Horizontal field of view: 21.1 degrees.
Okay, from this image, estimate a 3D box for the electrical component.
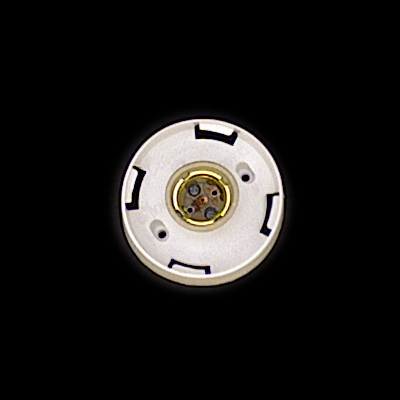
[{"bbox_3d":[0.000,0.000,0.625,0.099,0.099,0.064,0,-7,1],"label":"electrical component"}]
